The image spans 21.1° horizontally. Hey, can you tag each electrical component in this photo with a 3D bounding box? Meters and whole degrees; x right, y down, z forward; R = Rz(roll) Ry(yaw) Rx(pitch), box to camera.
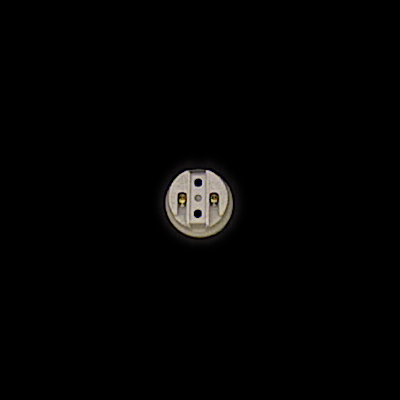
[{"bbox_3d":[0.000,0.000,0.634,0.040,0.040,0.046,0,-6,1],"label":"electrical component"}]
